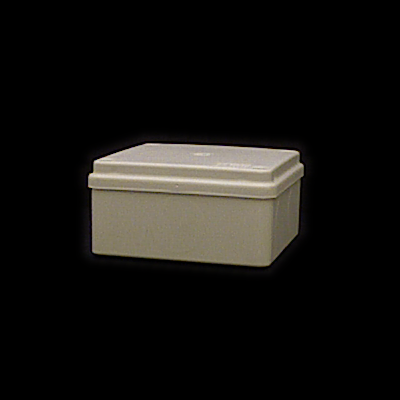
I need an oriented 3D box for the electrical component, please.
[{"bbox_3d":[0.000,0.000,0.646,0.108,0.056,0.108,4,10,14],"label":"electrical component"}]
